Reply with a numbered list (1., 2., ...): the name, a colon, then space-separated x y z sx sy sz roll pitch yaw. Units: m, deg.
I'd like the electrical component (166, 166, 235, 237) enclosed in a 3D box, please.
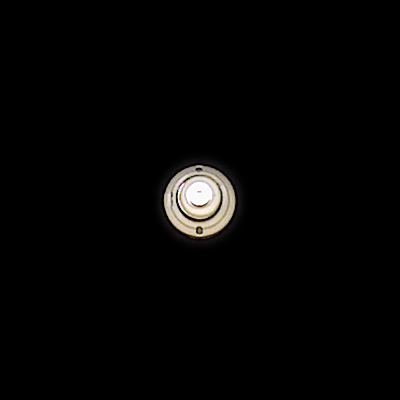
1. electrical component: 0.000 0.000 0.618 0.040 0.040 0.078 0 -5 0
